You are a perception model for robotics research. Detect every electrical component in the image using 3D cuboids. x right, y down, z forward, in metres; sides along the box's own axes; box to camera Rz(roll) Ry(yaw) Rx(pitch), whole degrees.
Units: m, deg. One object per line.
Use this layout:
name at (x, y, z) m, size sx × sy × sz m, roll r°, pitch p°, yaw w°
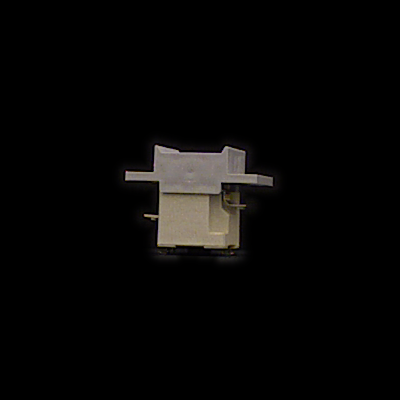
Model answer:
electrical component at (0.000, 0.000, 0.650) m, size 0.080 × 0.064 × 0.042 m, roll 2°, pitch 2°, yaw 16°
